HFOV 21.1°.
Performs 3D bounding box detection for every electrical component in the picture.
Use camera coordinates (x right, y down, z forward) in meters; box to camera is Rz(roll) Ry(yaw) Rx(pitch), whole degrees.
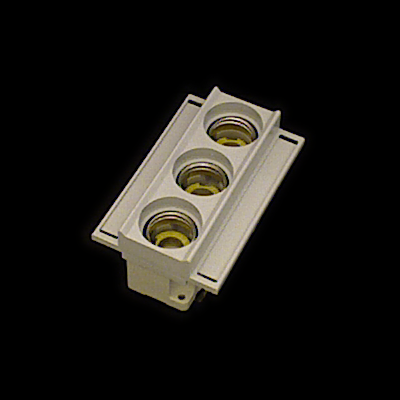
[{"bbox_3d":[0.000,0.000,0.639,0.078,0.121,0.063,23,-34,15],"label":"electrical component"}]
